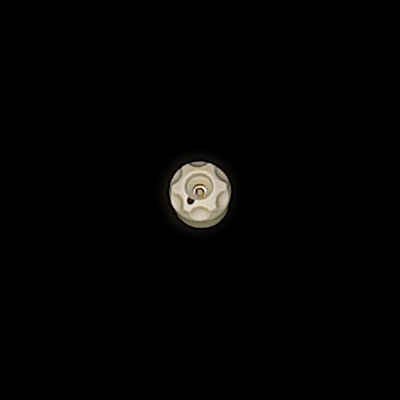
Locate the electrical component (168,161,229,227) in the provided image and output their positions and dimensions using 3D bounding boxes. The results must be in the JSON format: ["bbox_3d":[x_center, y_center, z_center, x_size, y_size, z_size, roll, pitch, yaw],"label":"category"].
[{"bbox_3d":[0.000,0.000,0.633,0.035,0.035,0.061,0,-16,1],"label":"electrical component"}]
